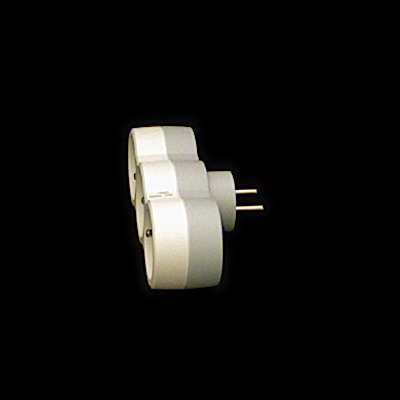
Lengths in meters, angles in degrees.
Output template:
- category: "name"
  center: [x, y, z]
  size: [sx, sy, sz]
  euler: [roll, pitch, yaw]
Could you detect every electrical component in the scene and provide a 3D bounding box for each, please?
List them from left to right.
- category: "electrical component"
  center: [0.000, 0.000, 0.643]
  size: [0.074, 0.053, 0.136]
  euler: [-3, 32, -9]
